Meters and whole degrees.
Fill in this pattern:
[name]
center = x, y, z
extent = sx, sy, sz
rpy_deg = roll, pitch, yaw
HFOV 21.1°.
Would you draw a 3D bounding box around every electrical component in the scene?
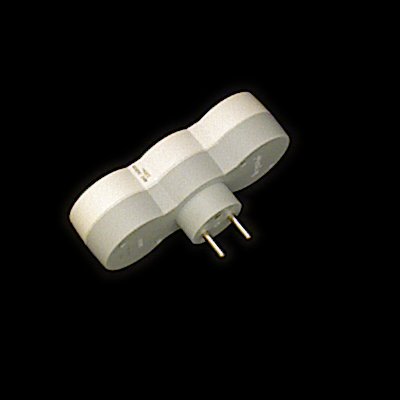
[electrical component]
center = 0.000, 0.000, 0.636
extent = 0.139, 0.073, 0.052
rpy_deg = -34, -20, -16
